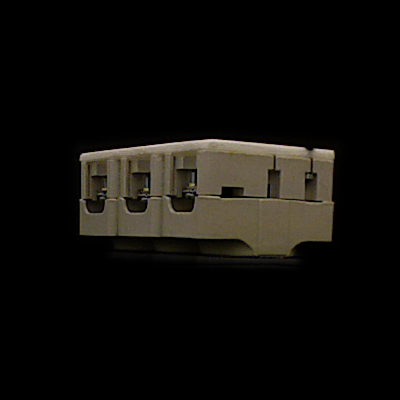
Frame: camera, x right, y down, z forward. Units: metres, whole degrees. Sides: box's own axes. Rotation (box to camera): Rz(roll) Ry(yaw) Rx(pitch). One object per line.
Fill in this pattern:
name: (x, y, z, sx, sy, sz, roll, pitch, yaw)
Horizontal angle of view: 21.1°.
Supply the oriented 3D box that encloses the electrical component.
electrical component: (0.000, 0.000, 0.656, 0.089, 0.062, 0.150, 1, 0, -33)
